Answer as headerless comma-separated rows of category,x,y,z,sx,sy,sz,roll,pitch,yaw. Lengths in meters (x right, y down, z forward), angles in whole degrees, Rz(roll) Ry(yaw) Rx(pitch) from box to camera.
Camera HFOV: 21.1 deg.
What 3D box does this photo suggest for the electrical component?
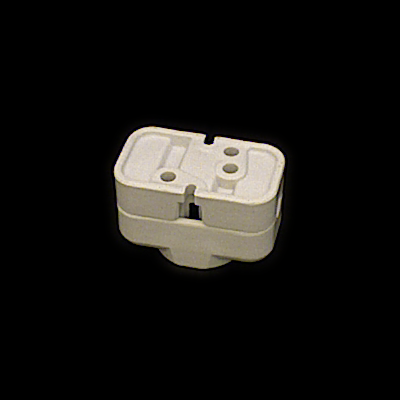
electrical component,0.000,0.000,0.640,0.095,0.060,0.053,9,43,9
